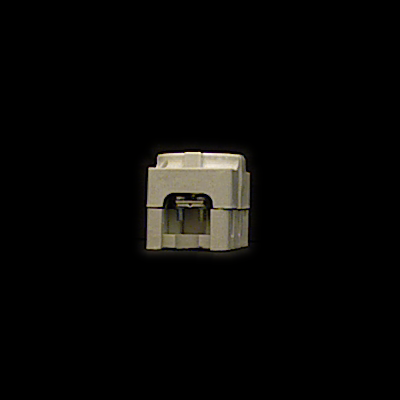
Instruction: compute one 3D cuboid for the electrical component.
[{"bbox_3d":[0.000,0.000,0.656,0.050,0.056,0.090,2,1,9],"label":"electrical component"}]
